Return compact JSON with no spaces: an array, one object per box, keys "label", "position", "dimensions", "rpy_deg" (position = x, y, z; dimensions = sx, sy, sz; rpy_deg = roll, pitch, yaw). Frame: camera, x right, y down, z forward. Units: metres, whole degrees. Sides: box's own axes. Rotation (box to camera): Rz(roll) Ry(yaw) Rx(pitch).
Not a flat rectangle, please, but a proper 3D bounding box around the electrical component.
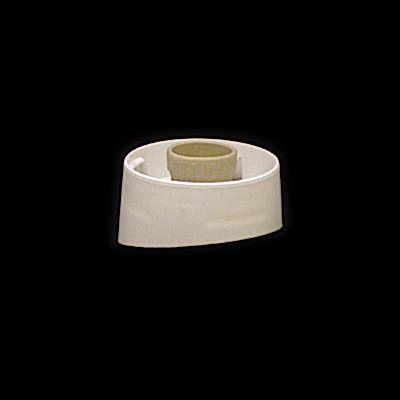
[{"label":"electrical component","position":[0.000,0.000,0.638],"dimensions":[0.099,0.065,0.097],"rpy_deg":[1,20,0]}]
